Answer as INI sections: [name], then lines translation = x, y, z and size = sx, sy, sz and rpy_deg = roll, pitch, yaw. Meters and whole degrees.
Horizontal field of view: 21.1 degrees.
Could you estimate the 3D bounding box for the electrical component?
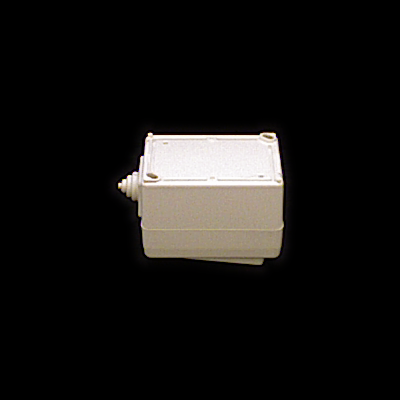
[electrical component]
translation = 0.000, 0.000, 0.637
size = 0.096, 0.061, 0.061
rpy_deg = 0, 31, 0
